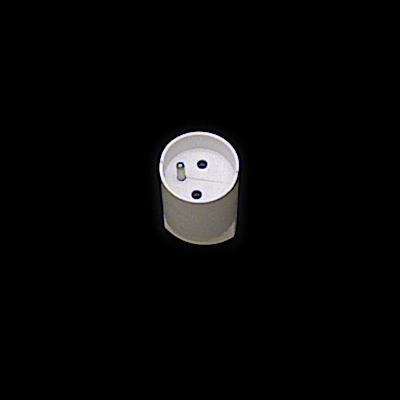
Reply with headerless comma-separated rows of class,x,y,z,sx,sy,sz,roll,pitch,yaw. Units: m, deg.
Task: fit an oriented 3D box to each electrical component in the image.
electrical component,0.000,0.000,0.615,0.043,0.043,0.081,0,-28,1
